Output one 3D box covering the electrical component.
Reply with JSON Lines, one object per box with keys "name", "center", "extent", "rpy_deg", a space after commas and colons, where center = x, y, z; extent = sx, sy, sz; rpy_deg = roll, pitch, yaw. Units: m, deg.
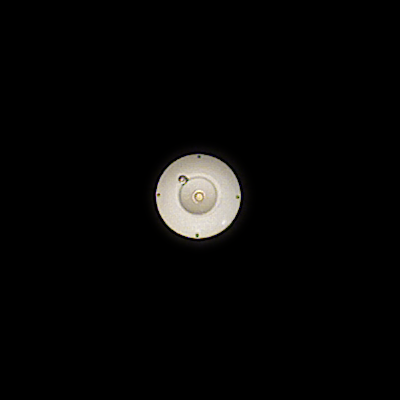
{"name": "electrical component", "center": [0.000, 0.000, 0.634], "extent": [0.048, 0.048, 0.061], "rpy_deg": [0, -6, 1]}
